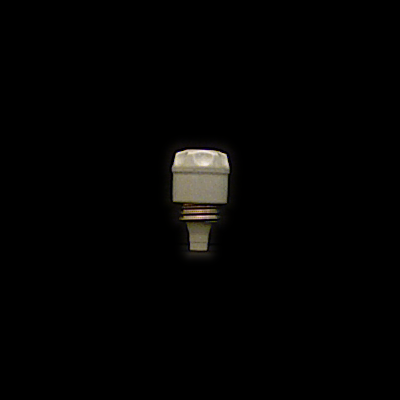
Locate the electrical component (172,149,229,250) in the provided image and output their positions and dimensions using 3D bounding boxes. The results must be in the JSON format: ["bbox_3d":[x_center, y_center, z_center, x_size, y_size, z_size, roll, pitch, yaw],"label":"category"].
[{"bbox_3d":[0.000,0.000,0.656,0.035,0.061,0.035,1,2,0],"label":"electrical component"}]
